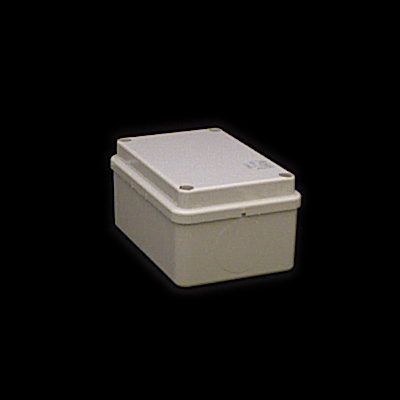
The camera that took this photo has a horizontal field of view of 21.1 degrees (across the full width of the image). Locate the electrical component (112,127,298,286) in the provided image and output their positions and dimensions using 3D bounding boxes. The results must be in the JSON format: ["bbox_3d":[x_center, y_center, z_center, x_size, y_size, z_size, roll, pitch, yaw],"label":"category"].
[{"bbox_3d":[0.000,0.000,0.640,0.078,0.058,0.111,-8,22,-23],"label":"electrical component"}]
